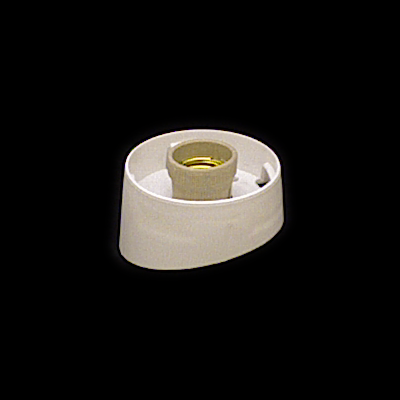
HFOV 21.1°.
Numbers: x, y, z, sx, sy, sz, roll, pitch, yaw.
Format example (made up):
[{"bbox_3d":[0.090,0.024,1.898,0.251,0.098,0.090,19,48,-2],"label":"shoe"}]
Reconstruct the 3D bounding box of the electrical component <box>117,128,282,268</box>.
[{"bbox_3d":[0.000,0.000,0.634,0.099,0.065,0.097,0,31,0],"label":"electrical component"}]
